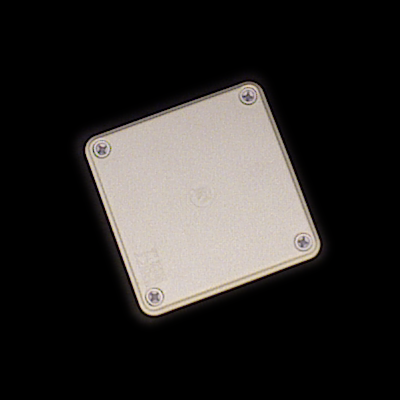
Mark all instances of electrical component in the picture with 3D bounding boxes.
[{"bbox_3d":[0.000,0.000,0.631,0.109,0.109,0.056,-20,-6,-3],"label":"electrical component"}]
